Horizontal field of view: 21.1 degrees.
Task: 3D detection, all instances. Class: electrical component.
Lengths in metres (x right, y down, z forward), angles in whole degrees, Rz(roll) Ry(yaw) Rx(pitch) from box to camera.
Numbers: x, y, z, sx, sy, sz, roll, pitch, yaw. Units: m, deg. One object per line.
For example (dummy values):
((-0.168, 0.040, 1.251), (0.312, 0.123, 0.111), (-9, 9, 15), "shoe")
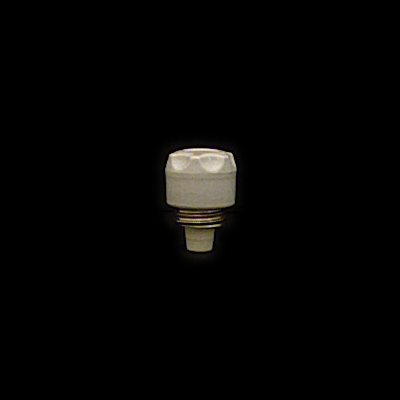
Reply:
((0.000, 0.000, 0.652), (0.043, 0.062, 0.043), (1, 11, 0), "electrical component")
